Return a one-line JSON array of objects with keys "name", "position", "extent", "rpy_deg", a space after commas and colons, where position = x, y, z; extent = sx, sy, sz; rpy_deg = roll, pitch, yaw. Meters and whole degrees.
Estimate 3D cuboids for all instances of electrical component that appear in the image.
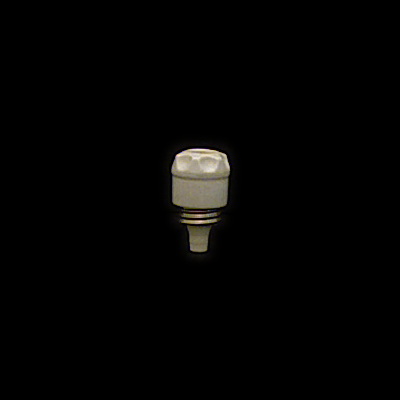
[{"name": "electrical component", "position": [0.000, 0.000, 0.651], "extent": [0.035, 0.062, 0.035], "rpy_deg": [1, 12, 0]}]
